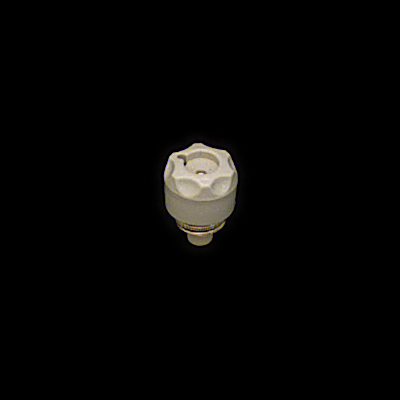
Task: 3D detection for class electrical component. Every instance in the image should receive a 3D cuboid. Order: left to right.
[{"bbox_3d":[0.000,0.000,0.638,0.043,0.062,0.043,1,43,-1],"label":"electrical component"}]
